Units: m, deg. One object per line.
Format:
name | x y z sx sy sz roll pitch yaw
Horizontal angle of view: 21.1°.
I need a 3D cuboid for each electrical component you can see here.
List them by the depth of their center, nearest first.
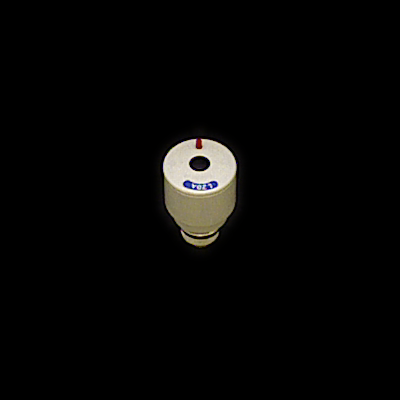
electrical component | 0.000 0.000 0.622 0.040 0.040 0.079 0 -38 0
